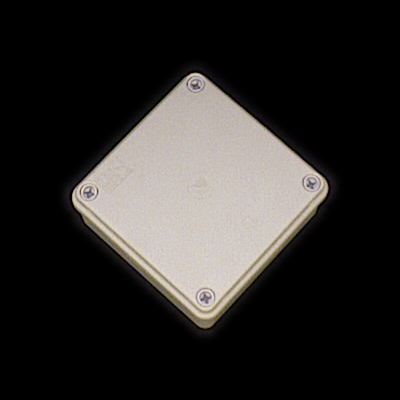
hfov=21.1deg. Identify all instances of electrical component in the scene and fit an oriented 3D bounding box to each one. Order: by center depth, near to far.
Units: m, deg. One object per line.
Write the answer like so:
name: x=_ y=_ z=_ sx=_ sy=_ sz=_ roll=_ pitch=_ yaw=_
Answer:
electrical component: x=0.000 y=0.000 z=0.629 sx=0.109 sy=0.109 sz=0.056 roll=41 pitch=-13 yaw=11
